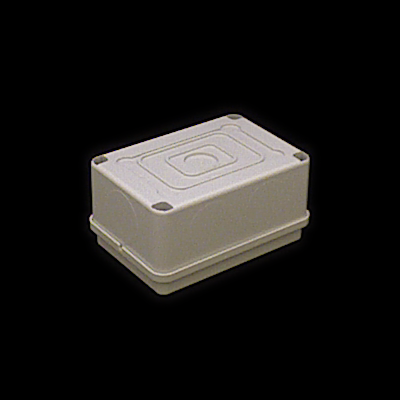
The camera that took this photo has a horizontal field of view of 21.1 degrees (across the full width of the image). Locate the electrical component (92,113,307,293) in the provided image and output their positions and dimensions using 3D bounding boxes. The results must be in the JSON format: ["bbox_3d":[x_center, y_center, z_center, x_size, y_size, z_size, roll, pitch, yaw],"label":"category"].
[{"bbox_3d":[0.000,0.000,0.634,0.113,0.058,0.077,-21,38,-31],"label":"electrical component"}]
